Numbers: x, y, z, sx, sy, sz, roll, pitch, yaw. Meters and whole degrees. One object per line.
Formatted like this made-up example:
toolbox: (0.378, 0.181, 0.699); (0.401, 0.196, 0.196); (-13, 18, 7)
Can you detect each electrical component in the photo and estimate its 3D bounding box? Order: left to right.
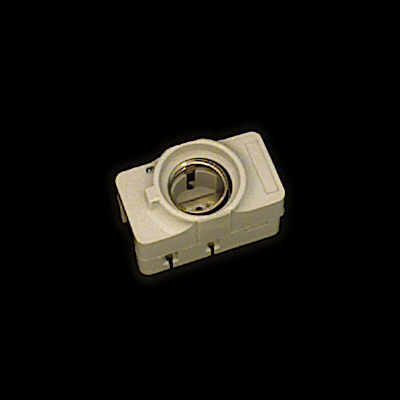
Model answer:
electrical component: (0.000, 0.000, 0.636); (0.090, 0.050, 0.055); (-18, -25, -9)
